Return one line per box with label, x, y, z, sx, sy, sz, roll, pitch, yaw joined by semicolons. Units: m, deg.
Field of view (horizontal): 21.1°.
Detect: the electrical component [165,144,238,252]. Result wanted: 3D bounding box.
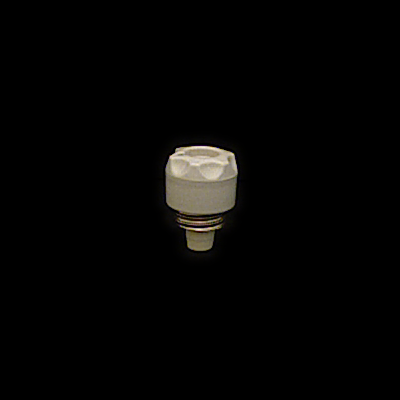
electrical component;0.000;0.000;0.647;0.043;0.063;0.043;2;22;0
